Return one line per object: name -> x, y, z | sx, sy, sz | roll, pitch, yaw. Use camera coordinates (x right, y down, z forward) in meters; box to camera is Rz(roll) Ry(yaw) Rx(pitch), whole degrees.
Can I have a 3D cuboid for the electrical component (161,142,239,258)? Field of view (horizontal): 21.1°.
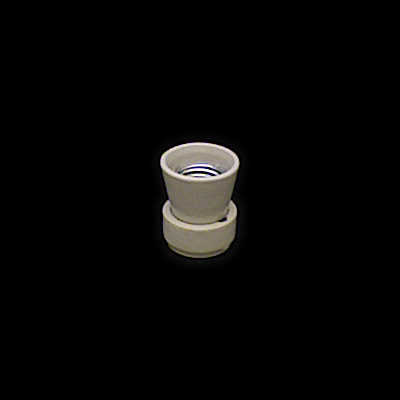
electrical component -> 0.000, 0.000, 0.633 | 0.045, 0.056, 0.044 | 0, 32, 0
